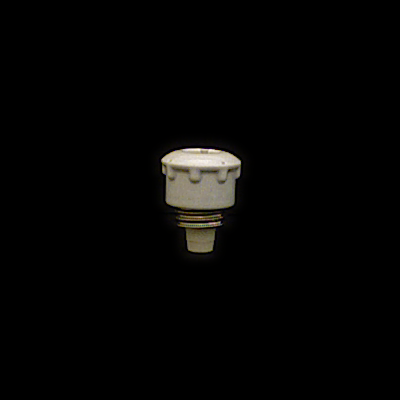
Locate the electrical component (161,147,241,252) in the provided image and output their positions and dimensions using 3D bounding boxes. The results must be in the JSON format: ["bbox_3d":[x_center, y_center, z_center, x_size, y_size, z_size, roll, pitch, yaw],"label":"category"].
[{"bbox_3d":[0.000,0.000,0.651,0.048,0.062,0.048,1,11,0],"label":"electrical component"}]
